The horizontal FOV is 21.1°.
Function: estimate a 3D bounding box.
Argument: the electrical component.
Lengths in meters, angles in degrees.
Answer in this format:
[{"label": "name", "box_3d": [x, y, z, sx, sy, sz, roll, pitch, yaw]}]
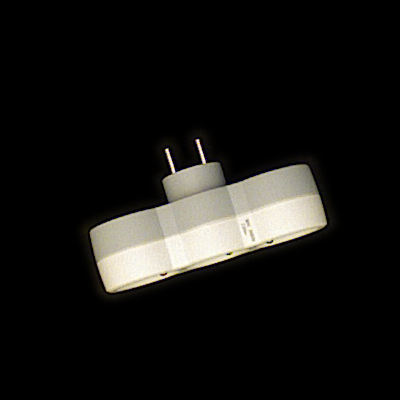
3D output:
[{"label": "electrical component", "box_3d": [0.000, 0.000, 0.640, 0.138, 0.074, 0.052, -17, -7, -2]}]
